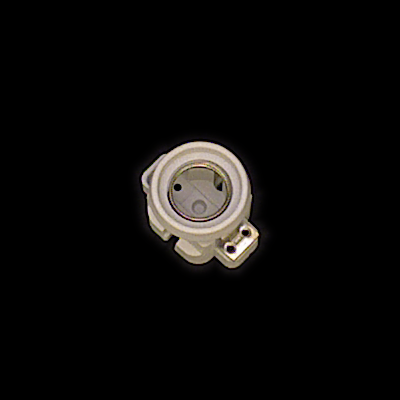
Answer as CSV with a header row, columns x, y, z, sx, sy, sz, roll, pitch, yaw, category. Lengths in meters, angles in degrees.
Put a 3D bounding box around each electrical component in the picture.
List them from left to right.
x,y,z,sx,sy,sz,roll,pitch,yaw,category
0.000,0.000,0.628,0.078,0.058,0.056,42,-13,11,electrical component
